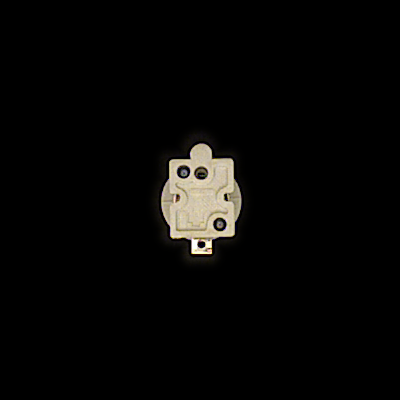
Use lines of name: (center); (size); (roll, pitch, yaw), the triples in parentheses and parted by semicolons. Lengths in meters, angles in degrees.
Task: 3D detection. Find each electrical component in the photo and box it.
electrical component: (0.000, 0.000, 0.639); (0.048, 0.066, 0.055); (-1, -5, 0)
